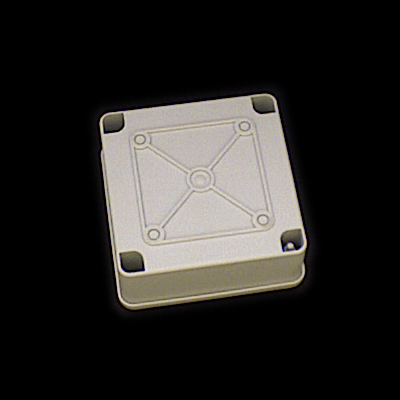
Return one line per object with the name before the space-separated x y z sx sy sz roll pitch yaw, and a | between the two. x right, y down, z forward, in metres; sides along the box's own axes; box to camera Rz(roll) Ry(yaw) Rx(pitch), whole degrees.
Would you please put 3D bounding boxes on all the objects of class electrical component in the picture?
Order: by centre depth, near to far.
electrical component | 0.000 0.000 0.628 0.109 0.109 0.056 -7 -26 -5
